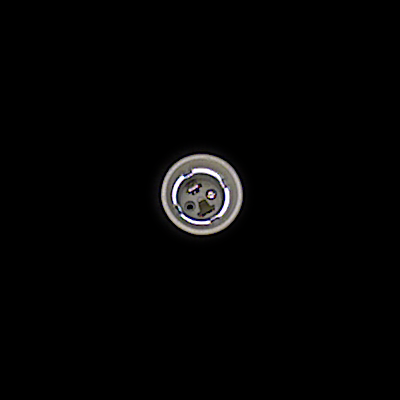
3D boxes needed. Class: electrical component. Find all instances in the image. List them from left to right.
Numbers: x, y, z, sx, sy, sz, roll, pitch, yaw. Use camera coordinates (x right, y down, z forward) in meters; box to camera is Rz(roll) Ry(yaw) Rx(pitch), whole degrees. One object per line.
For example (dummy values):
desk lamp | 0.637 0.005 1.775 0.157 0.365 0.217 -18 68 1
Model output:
electrical component | 0.000 0.000 0.625 0.044 0.044 0.065 0 -7 0
